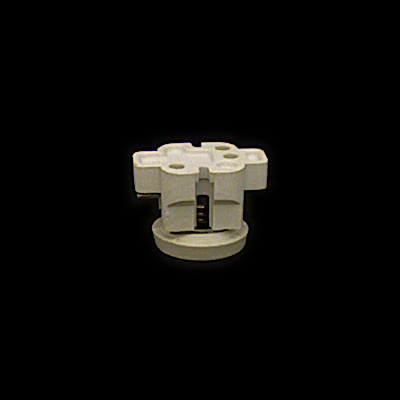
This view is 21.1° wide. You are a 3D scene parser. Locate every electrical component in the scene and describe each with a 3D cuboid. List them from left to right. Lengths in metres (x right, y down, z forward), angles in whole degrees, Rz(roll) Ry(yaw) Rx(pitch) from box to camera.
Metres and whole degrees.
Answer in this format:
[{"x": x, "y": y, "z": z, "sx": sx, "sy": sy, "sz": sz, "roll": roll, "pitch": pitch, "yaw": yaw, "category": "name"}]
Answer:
[{"x": 0.000, "y": 0.000, "z": 0.645, "sx": 0.079, "sy": 0.057, "sz": 0.057, "roll": -3, "pitch": 23, "yaw": -7, "category": "electrical component"}]
